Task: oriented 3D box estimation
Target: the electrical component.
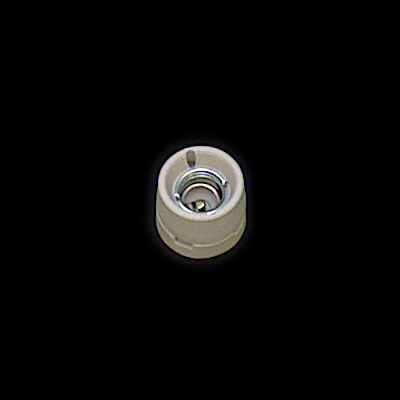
[{"bbox_3d":[0.000,0.000,0.633,0.055,0.055,0.047,0,-28,0],"label":"electrical component"}]
